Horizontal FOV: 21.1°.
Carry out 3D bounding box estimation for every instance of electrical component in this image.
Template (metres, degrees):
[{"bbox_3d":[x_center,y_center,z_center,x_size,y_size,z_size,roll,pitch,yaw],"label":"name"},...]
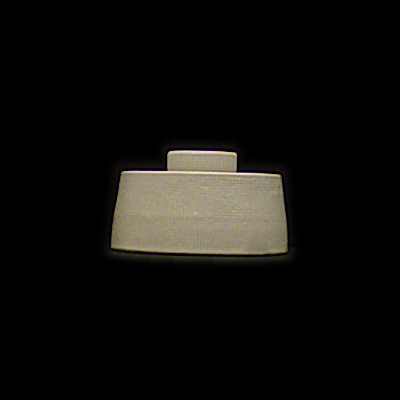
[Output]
[{"bbox_3d":[0.000,0.000,0.656,0.108,0.060,0.108,1,1,0],"label":"electrical component"}]
